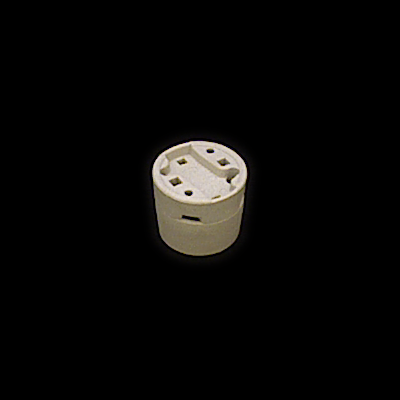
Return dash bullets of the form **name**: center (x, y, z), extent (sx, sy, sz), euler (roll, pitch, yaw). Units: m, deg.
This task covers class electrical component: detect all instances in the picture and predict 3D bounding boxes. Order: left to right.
- **electrical component**: center (0.000, 0.000, 0.636), extent (0.055, 0.047, 0.055), euler (0, 42, 0)
